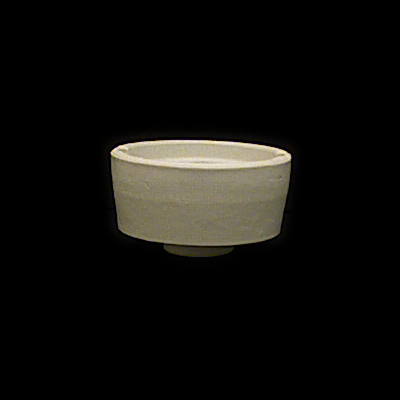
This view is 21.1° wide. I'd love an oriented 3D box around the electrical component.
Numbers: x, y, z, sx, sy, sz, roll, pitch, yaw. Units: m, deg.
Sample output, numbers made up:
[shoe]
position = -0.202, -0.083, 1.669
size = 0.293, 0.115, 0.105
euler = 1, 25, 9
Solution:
[electrical component]
position = 0.000, 0.000, 0.648
size = 0.108, 0.061, 0.107
euler = 2, 11, 0
